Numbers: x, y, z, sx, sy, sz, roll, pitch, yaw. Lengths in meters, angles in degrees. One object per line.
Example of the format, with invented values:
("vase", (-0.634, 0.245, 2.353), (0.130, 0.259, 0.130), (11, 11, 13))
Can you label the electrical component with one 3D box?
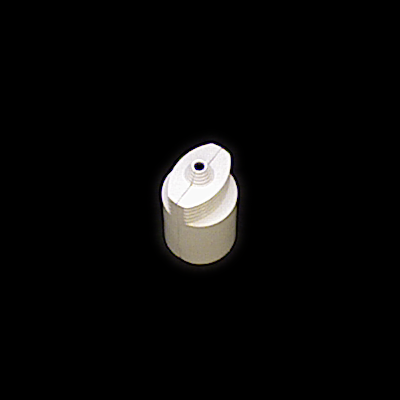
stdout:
("electrical component", (0.000, 0.000, 0.617), (0.043, 0.043, 0.081), (0, -27, 0))
